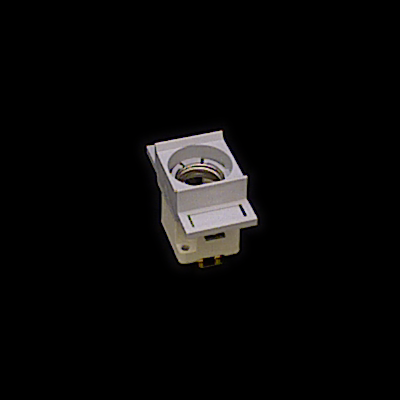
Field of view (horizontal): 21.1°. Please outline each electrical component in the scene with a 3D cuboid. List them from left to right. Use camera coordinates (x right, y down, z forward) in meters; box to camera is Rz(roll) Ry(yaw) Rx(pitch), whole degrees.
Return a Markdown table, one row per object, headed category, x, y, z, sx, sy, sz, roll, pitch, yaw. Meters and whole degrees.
| category | x | y | z | sx | sy | sz | roll | pitch | yaw |
| --- | --- | --- | --- | --- | --- | --- | --- | --- | --- |
| electrical component | 0.000 | 0.000 | 0.631 | 0.042 | 0.064 | 0.080 | -13 | 44 | -13 |
